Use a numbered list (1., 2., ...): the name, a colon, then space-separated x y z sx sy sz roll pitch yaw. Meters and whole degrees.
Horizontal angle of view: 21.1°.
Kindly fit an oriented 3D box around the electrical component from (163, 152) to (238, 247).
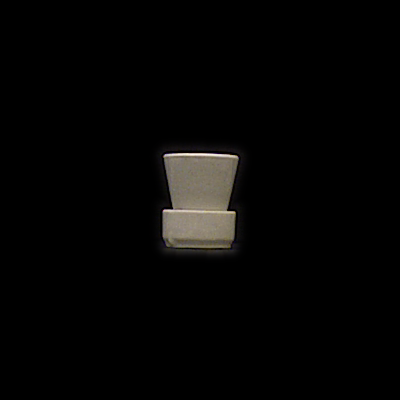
1. electrical component: 0.000 0.000 0.650 0.045 0.055 0.044 1 2 0
